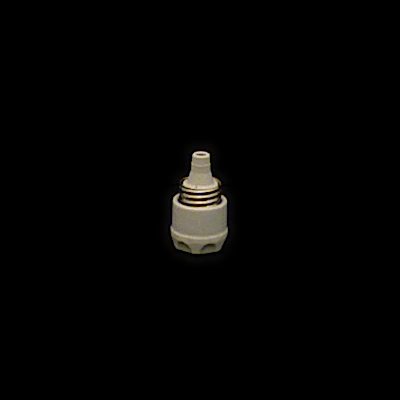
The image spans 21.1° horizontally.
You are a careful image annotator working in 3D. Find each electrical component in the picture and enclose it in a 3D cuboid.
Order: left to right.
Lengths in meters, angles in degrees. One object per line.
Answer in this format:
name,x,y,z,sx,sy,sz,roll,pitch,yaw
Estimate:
electrical component,0.000,0.000,0.653,0.035,0.062,0.034,1,23,0
